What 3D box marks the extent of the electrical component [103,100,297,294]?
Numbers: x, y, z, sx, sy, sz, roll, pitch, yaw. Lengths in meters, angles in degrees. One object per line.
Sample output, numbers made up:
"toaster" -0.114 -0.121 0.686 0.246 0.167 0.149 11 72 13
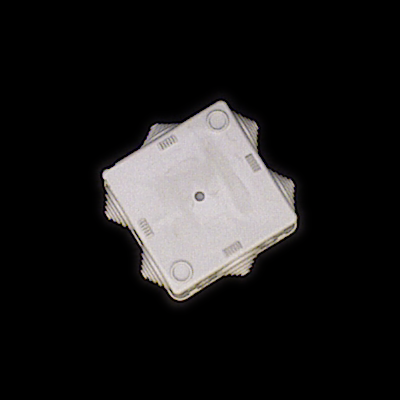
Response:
"electrical component" 0.000 0.000 0.632 0.100 0.100 0.048 -31 -6 -4
